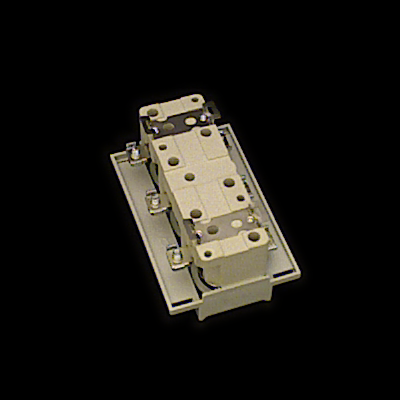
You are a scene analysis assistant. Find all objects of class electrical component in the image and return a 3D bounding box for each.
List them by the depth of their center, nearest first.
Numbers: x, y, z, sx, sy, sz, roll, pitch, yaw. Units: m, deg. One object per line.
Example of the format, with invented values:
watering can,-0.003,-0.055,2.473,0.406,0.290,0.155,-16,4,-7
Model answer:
electrical component,0.000,0.000,0.636,0.079,0.120,0.063,-15,-35,-12
